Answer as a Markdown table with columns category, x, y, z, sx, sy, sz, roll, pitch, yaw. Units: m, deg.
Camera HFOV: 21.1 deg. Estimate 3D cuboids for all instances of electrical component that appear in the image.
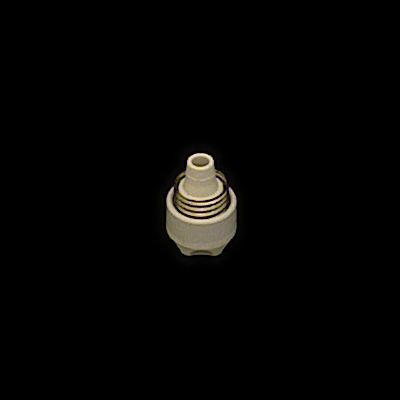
| category | x | y | z | sx | sy | sz | roll | pitch | yaw |
| --- | --- | --- | --- | --- | --- | --- | --- | --- | --- |
| electrical component | 0.000 | 0.000 | 0.638 | 0.043 | 0.062 | 0.043 | 0 | 41 | 0 |
